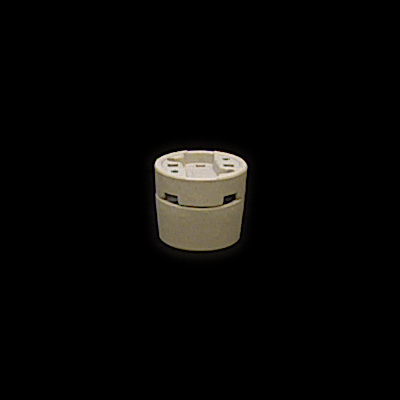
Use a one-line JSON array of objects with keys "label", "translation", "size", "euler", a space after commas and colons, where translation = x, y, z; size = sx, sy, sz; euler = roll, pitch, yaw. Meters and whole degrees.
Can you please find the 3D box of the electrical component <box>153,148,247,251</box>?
[{"label": "electrical component", "translation": [0.000, 0.000, 0.643], "size": [0.055, 0.047, 0.055], "euler": [1, 22, 0]}]
